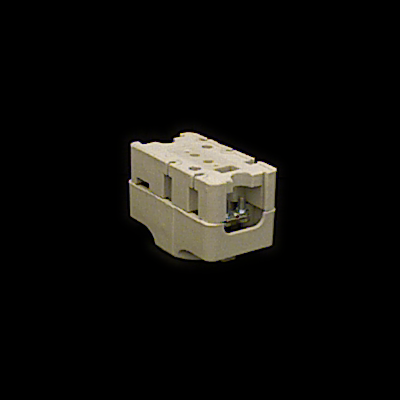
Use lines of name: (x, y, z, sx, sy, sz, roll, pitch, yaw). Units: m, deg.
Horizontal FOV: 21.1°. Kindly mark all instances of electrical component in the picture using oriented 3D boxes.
electrical component: (0.000, 0.000, 0.647, 0.050, 0.056, 0.088, -14, 27, -33)
